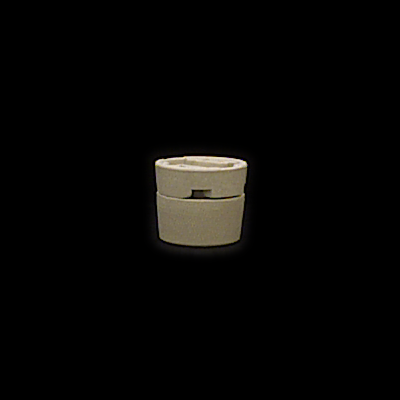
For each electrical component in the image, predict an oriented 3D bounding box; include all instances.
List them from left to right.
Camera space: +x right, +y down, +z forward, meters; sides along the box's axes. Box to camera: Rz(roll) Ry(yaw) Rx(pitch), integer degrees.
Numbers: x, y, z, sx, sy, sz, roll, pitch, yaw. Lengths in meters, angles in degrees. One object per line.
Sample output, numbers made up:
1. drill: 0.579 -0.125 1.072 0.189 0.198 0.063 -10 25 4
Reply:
1. electrical component: 0.000 0.000 0.646 0.055 0.047 0.055 2 11 0
